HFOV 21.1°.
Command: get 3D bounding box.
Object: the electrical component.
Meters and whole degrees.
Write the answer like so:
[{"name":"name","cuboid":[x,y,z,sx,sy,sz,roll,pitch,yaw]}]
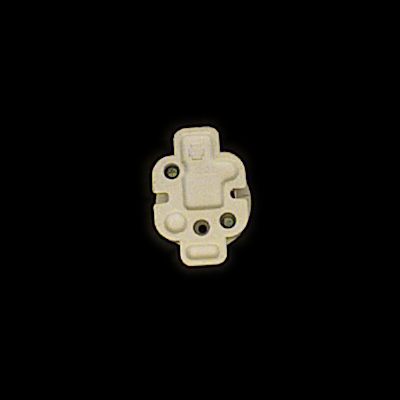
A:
[{"name":"electrical component","cuboid":[0.000,0.000,0.637,0.058,0.079,0.056,-5,-7,1]}]
